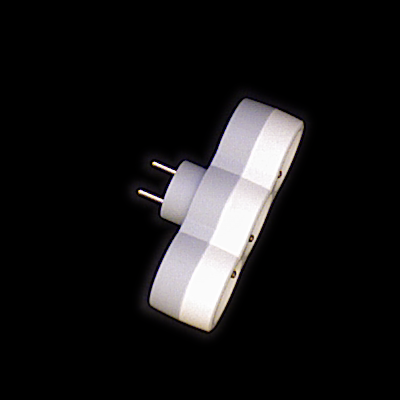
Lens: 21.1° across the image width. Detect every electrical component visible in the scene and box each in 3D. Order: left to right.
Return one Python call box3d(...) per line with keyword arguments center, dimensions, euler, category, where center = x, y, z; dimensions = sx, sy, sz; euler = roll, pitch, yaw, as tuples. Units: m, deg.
box3d(center=(0.000, 0.000, 0.629), dimensions=(0.074, 0.139, 0.052), euler=(23, -15, 9), category="electrical component")
